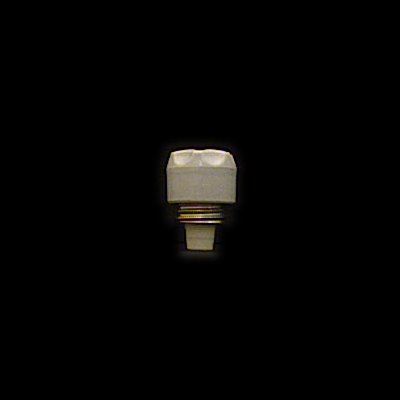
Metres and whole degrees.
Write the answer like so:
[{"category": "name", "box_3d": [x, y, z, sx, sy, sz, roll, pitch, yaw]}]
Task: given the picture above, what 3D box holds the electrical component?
[{"category": "electrical component", "box_3d": [0.000, 0.000, 0.658, 0.043, 0.062, 0.043, 1, 1, 1]}]
